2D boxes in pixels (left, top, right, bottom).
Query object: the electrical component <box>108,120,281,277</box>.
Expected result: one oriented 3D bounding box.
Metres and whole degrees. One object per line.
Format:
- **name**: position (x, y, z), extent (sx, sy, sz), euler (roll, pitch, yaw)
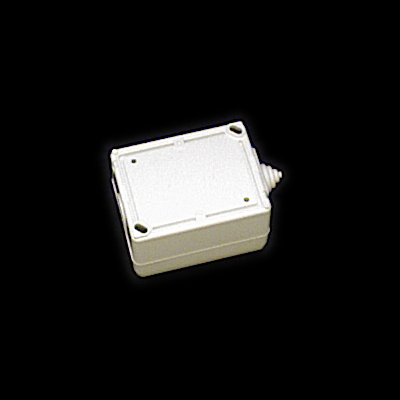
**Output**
- **electrical component**: position (0.000, 0.000, 0.628), extent (0.096, 0.062, 0.061), euler (-13, -28, -7)
